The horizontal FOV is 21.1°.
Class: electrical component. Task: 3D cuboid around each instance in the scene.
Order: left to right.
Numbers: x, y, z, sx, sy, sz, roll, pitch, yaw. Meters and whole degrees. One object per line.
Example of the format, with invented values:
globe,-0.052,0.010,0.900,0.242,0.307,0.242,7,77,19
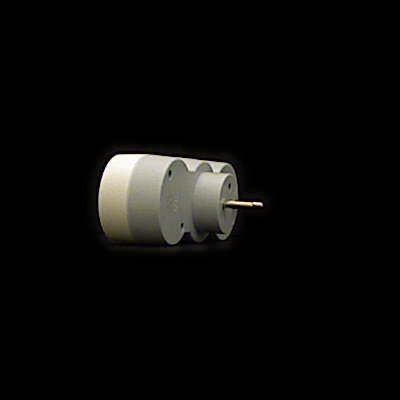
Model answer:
electrical component,0.000,0.000,0.654,0.073,0.052,0.139,3,1,20
